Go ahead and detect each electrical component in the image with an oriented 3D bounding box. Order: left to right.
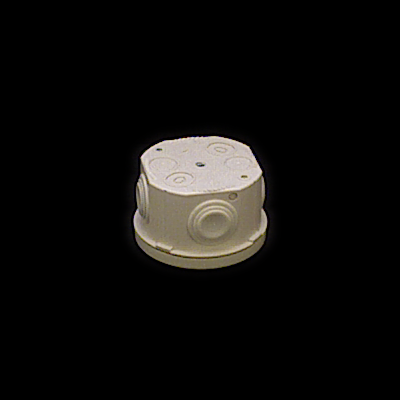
[{"bbox_3d":[0.000,0.000,0.638,0.080,0.051,0.079,0,31,0],"label":"electrical component"}]
